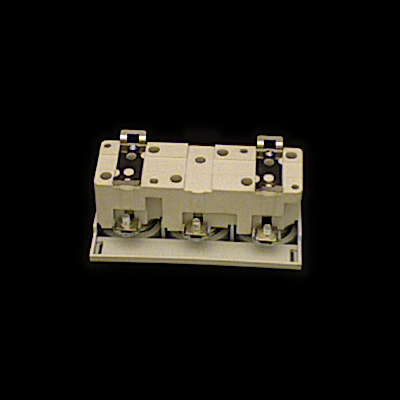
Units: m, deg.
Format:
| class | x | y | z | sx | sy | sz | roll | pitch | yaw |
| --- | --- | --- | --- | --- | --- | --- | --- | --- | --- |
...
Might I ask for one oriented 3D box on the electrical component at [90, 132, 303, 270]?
| class | x | y | z | sx | sy | sz | roll | pitch | yaw |
| --- | --- | --- | --- | --- | --- | --- | --- | --- | --- |
| electrical component | 0.000 | 0.000 | 0.635 | 0.121 | 0.063 | 0.078 | 2 | 43 | 1 |
